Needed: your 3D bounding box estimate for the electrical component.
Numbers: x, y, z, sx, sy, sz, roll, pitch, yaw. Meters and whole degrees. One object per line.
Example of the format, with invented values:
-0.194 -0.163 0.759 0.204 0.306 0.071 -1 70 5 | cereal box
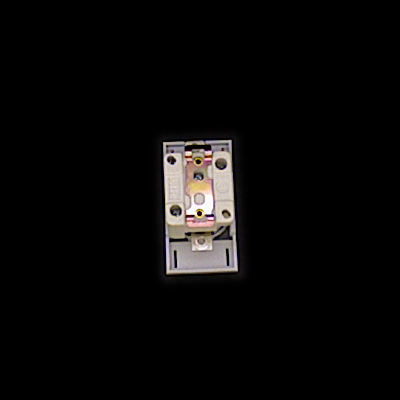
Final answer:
0.000 0.000 0.625 0.042 0.081 0.063 -3 -17 -1 | electrical component
